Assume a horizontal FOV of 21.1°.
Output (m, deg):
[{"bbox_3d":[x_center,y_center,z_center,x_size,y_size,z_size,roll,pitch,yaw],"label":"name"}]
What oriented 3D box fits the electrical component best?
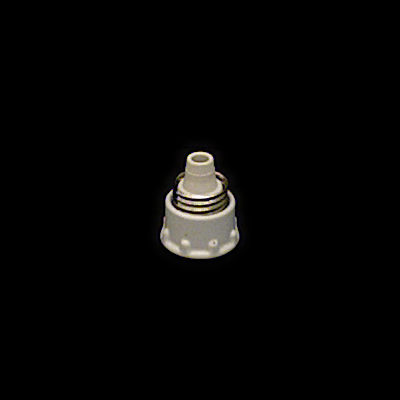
[{"bbox_3d":[0.000,0.000,0.639,0.048,0.063,0.047,0,33,0],"label":"electrical component"}]
